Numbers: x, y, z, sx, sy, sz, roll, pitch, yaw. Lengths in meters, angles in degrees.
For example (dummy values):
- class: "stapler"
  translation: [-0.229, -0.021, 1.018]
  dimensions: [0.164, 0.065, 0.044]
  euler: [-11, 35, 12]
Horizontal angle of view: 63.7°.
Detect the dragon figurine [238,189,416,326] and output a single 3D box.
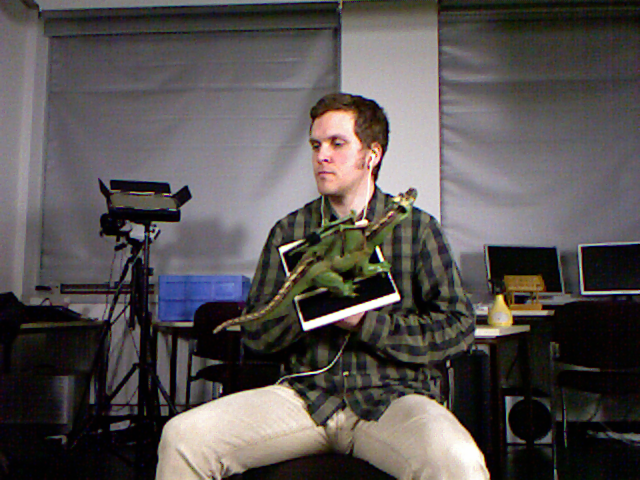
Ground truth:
- class: "dragon figurine"
  translation: [0.011, 0.031, 0.951]
  dimensions: [0.414, 0.124, 0.239]
  euler: [-30, -26, -9]
